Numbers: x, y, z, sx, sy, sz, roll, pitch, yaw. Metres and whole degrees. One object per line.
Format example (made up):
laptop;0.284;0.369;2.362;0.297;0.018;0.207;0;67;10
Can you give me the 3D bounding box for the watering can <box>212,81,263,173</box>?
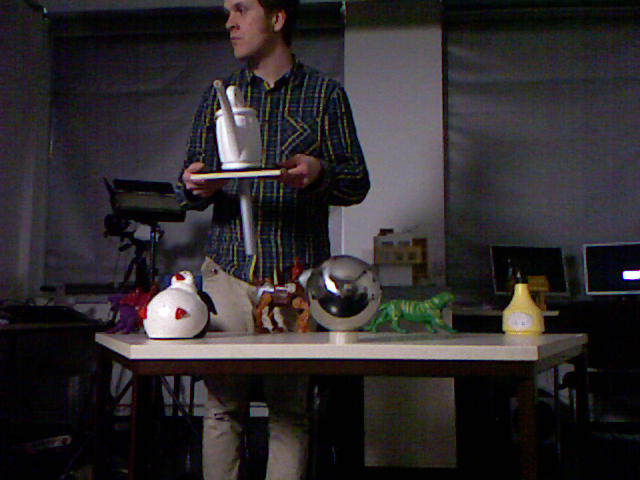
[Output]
watering can;-0.200;-0.256;1.214;0.104;0.223;0.350;-2;9;3
